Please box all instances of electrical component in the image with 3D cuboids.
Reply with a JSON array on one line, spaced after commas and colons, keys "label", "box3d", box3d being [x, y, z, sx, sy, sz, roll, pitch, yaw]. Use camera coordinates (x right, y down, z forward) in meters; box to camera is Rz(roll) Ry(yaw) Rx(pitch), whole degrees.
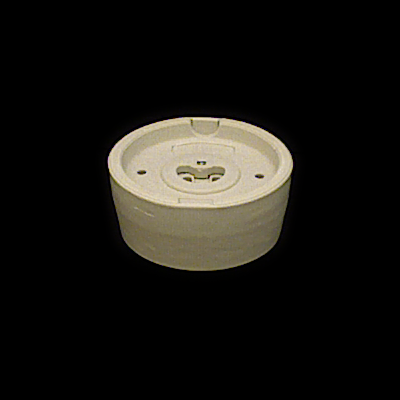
[{"label": "electrical component", "box3d": [0.000, 0.000, 0.644, 0.108, 0.061, 0.106, 1, 32, 0]}]
